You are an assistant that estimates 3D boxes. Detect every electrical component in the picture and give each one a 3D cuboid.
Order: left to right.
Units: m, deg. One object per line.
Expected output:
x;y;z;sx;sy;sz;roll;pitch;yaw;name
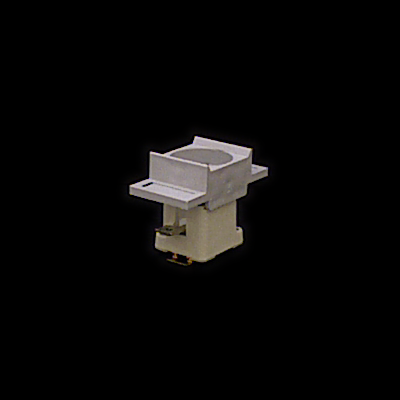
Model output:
0.000;0.000;0.635;0.042;0.064;0.080;17;26;33;electrical component
